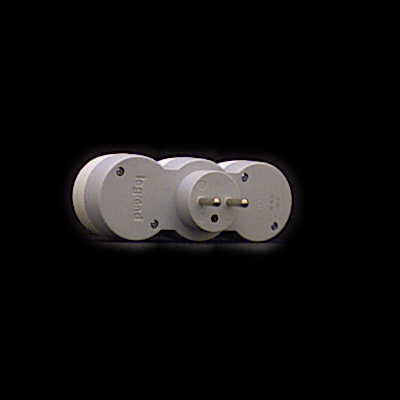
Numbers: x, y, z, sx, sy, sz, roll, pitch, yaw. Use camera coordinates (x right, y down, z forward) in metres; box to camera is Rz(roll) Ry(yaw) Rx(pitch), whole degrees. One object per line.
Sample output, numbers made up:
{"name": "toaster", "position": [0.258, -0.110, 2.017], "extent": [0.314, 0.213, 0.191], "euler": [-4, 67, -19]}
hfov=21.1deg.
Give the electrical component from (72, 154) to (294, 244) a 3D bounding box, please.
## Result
{"name": "electrical component", "position": [0.000, 0.000, 0.652], "extent": [0.138, 0.052, 0.073], "euler": [2, 2, -31]}
